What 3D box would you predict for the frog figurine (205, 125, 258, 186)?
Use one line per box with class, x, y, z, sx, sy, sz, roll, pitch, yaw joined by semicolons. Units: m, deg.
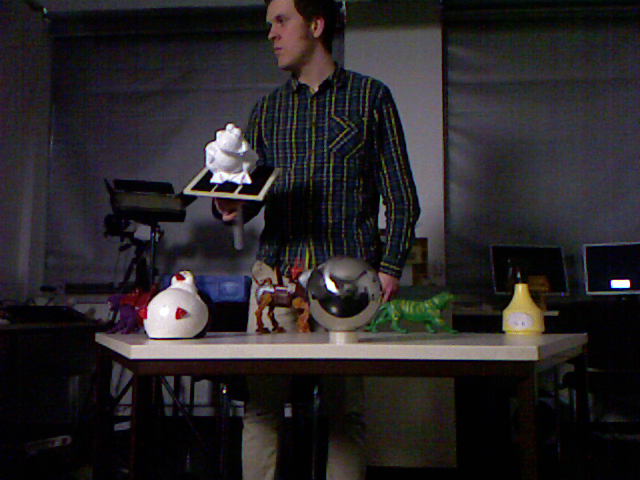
frog figurine;-0.231;-0.225;1.326;0.138;0.156;0.125;12;31;17
